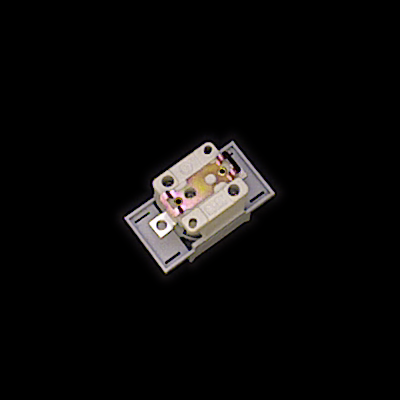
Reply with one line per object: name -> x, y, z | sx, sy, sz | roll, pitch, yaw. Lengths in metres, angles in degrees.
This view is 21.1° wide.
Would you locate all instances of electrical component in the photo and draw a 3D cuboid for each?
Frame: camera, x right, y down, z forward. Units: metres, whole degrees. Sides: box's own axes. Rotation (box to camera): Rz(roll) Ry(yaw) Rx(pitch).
electrical component -> 0.000, 0.000, 0.625 | 0.081, 0.042, 0.063 | -36, -13, -10
